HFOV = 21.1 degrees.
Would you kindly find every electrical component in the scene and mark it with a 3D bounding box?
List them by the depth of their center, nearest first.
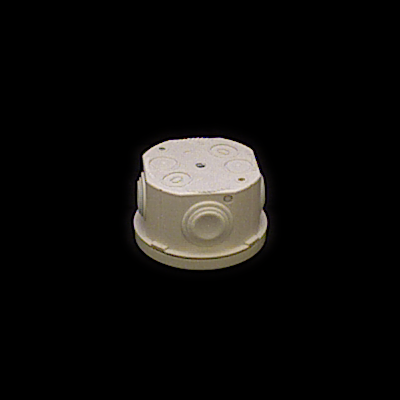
[{"bbox_3d":[0.000,0.000,0.638,0.080,0.051,0.079,0,31,0],"label":"electrical component"}]
